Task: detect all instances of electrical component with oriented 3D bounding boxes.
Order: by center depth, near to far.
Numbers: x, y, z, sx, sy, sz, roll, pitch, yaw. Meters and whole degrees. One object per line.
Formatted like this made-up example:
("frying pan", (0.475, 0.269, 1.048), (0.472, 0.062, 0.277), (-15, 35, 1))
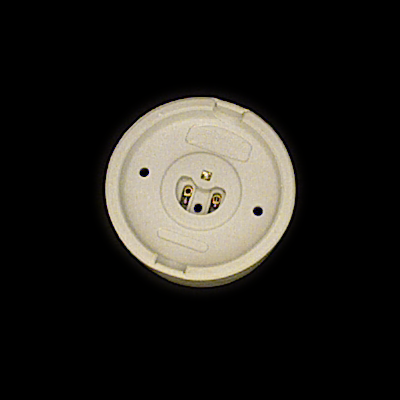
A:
("electrical component", (0.000, 0.000, 0.635), (0.108, 0.108, 0.060), (0, -16, 0))
